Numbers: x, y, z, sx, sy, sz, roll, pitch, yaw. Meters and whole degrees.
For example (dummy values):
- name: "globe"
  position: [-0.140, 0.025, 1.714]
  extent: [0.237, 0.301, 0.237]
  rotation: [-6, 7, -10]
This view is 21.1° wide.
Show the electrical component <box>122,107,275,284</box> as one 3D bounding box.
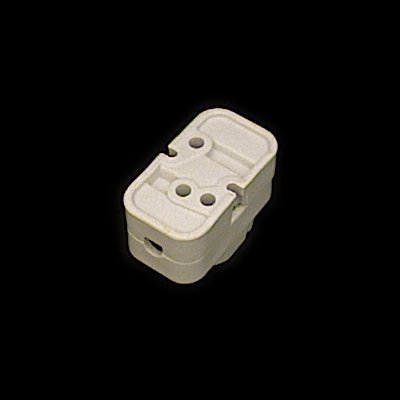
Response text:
- name: "electrical component"
  position: [0.000, 0.000, 0.636]
  extent: [0.053, 0.095, 0.059]
  rotation: [30, -32, 21]
